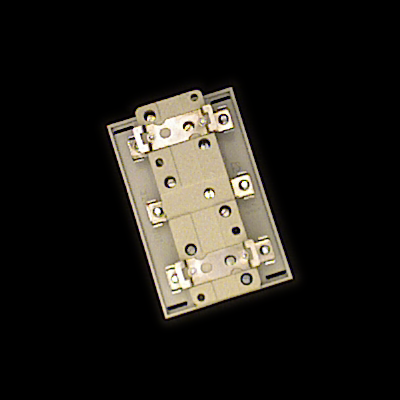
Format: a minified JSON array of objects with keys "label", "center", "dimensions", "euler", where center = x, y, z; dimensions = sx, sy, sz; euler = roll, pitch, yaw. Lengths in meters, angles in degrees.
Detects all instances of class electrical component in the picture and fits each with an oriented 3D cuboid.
[{"label":"electrical component","center":[0.000,0.000,0.634],"dimensions":[0.079,0.121,0.063],"euler":[-18,-6,-1]}]
